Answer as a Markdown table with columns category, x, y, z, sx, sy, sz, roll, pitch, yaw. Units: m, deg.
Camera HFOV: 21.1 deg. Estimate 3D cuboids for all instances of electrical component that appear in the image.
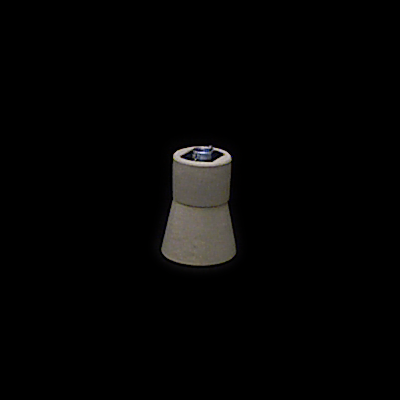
| category | x | y | z | sx | sy | sz | roll | pitch | yaw |
| --- | --- | --- | --- | --- | --- | --- | --- | --- | --- |
| electrical component | 0.000 | 0.000 | 0.636 | 0.044 | 0.066 | 0.044 | 2 | 22 | -1 |
